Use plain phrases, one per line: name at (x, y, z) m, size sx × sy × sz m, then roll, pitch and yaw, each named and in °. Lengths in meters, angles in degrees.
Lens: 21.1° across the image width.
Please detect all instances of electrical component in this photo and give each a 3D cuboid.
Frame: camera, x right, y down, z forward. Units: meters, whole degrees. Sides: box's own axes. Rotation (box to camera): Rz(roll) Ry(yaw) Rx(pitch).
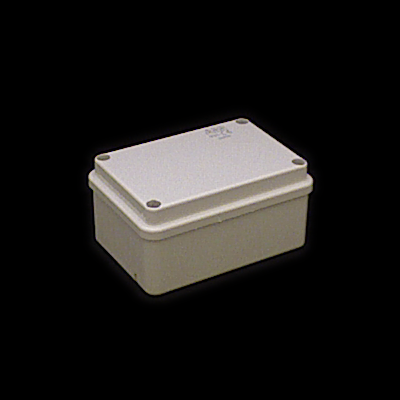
electrical component at (0.000, 0.000, 0.636) m, size 0.113 × 0.058 × 0.077 m, roll -17°, pitch 36°, yaw -27°
